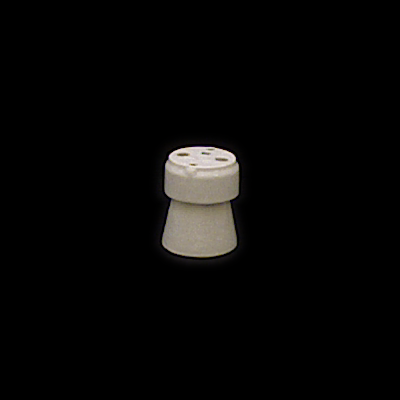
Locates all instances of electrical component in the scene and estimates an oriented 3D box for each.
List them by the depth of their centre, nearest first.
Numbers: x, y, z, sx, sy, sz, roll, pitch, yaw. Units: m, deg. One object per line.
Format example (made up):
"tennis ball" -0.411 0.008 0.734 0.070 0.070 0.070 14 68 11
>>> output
"electrical component" 0.000 0.000 0.639 0.045 0.056 0.044 1 22 0
